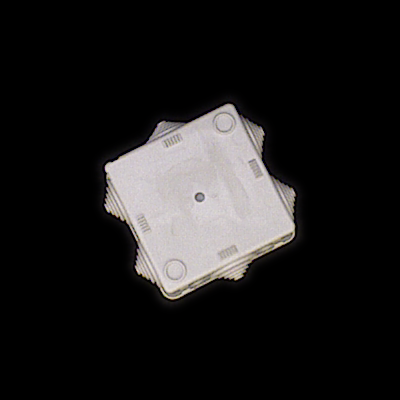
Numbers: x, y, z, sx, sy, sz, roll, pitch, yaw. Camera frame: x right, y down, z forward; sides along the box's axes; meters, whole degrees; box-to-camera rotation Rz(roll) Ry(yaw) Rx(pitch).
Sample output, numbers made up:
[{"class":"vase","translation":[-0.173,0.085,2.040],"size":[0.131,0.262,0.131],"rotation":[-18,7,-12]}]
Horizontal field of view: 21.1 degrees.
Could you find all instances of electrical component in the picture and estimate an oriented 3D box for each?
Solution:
[{"class":"electrical component","translation":[0.000,0.000,0.632],"size":[0.100,0.100,0.048],"rotation":[-26,-6,-3]}]
